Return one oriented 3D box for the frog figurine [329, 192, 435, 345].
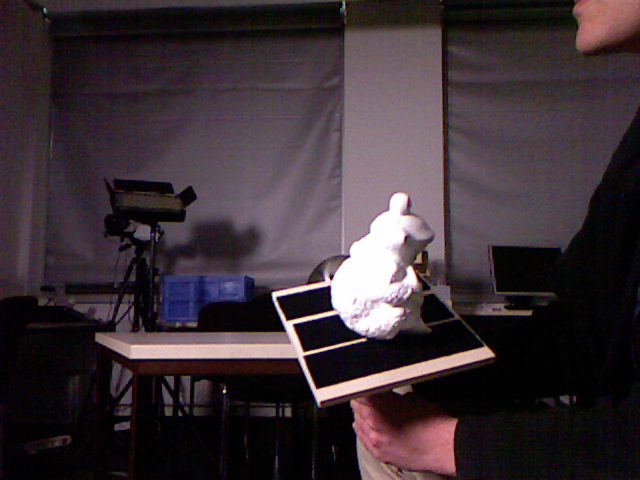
[{"bbox_3d":[0.071,0.032,0.581,0.123,0.156,0.140,-7,33,-7],"label":"frog figurine"}]
